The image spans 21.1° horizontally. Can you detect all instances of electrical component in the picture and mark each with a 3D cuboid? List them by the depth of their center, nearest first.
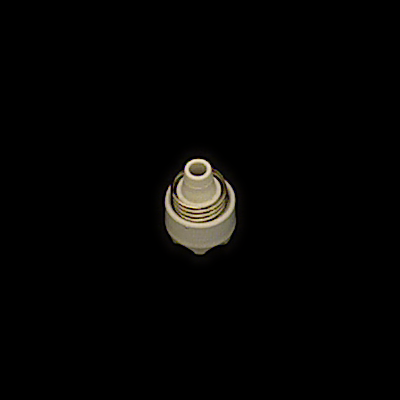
[{"bbox_3d":[0.000,0.000,0.635,0.043,0.043,0.062,0,-37,1],"label":"electrical component"}]
